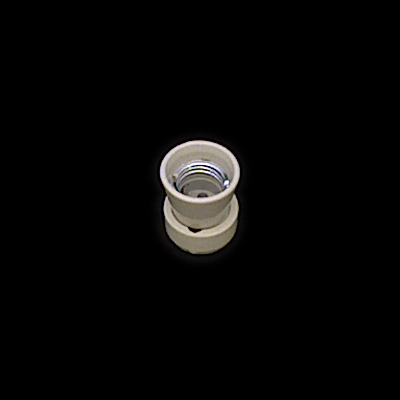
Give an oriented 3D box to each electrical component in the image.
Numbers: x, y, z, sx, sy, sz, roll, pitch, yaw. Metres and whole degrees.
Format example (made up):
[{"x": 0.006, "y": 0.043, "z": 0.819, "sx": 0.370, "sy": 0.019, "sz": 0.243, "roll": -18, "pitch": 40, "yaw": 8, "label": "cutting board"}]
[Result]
[{"x": 0.000, "y": 0.000, "z": 0.629, "sx": 0.045, "sy": 0.044, "sz": 0.055, "roll": 0, "pitch": -38, "yaw": 0, "label": "electrical component"}]
